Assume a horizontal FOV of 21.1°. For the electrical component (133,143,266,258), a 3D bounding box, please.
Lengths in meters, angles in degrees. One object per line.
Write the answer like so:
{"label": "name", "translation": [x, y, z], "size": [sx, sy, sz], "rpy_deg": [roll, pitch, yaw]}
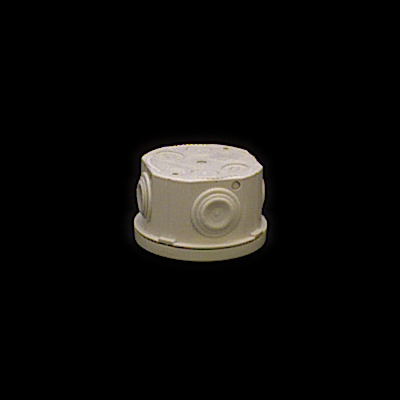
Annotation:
{"label": "electrical component", "translation": [0.000, 0.000, 0.642], "size": [0.080, 0.051, 0.079], "rpy_deg": [1, 20, 0]}
